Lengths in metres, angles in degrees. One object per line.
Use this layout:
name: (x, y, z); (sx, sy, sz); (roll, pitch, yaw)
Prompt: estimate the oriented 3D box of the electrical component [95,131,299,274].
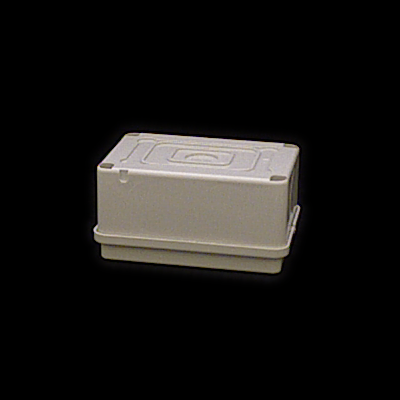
electrical component: (0.000, 0.000, 0.639); (0.113, 0.058, 0.077); (5, 21, 9)
